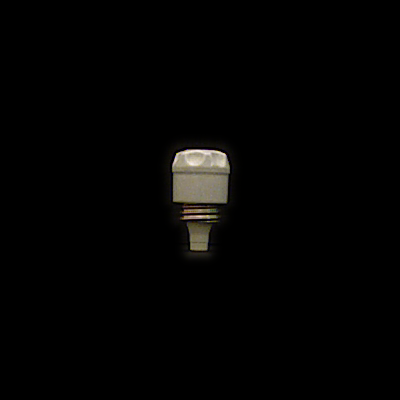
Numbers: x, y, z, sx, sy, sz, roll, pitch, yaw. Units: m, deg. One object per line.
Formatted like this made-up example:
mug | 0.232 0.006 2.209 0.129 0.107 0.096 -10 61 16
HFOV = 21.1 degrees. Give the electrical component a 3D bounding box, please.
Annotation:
electrical component | 0.000 0.000 0.655 0.035 0.061 0.035 1 2 0
